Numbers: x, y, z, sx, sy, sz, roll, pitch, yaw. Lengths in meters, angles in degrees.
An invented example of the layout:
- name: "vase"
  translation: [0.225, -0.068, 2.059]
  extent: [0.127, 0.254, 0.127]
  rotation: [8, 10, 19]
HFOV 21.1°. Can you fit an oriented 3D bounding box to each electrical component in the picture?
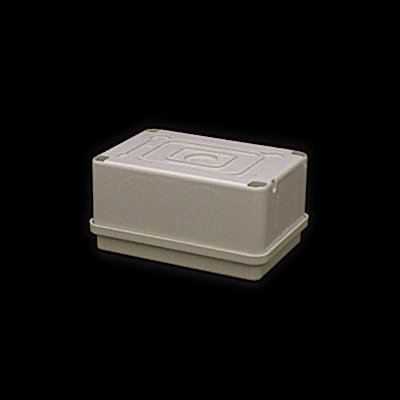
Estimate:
- name: "electrical component"
  translation: [0.000, 0.000, 0.639]
  extent: [0.112, 0.058, 0.077]
  rotation: [10, 23, 24]
